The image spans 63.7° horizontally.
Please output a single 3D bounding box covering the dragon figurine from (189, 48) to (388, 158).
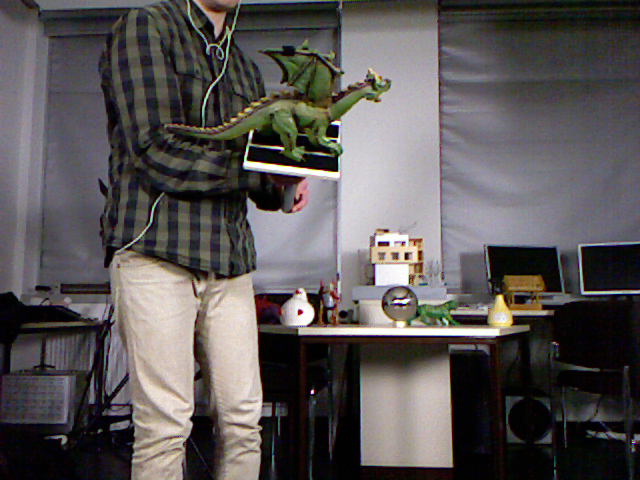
[{"bbox_3d":[-0.058,-0.288,1.048,0.412,0.125,0.238,-4,-39,-14],"label":"dragon figurine"}]
